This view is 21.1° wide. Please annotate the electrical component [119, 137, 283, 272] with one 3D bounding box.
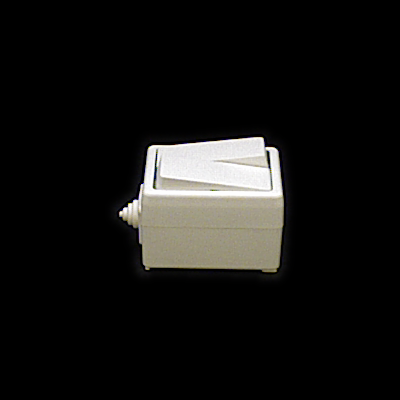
[{"bbox_3d":[0.000,0.000,0.634,0.096,0.061,0.061,1,31,0],"label":"electrical component"}]
